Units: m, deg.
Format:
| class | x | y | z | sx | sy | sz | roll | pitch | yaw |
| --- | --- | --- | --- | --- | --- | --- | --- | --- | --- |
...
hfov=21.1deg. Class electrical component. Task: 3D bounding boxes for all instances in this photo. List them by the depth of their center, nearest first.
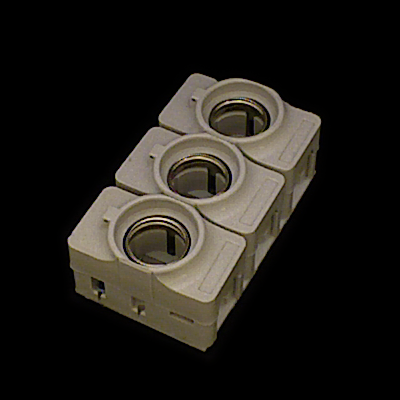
| class | x | y | z | sx | sy | sz | roll | pitch | yaw |
| --- | --- | --- | --- | --- | --- | --- | --- | --- | --- |
| electrical component | 0.000 | 0.000 | 0.633 | 0.089 | 0.149 | 0.062 | 22 | -35 | 17 |
